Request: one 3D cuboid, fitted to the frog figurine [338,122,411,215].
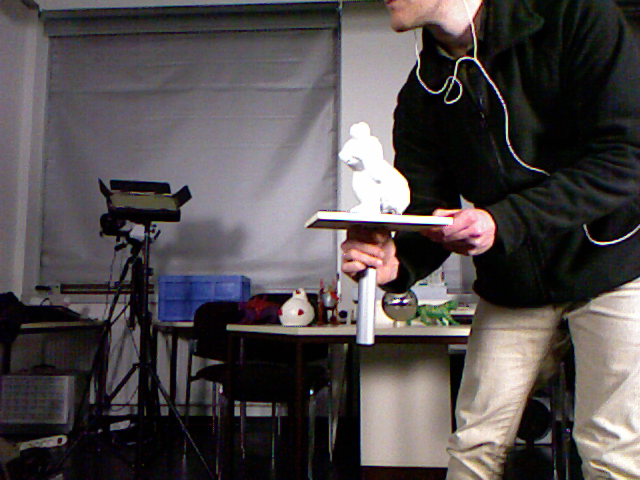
[{"bbox_3d":[0.092,-0.114,0.857,0.123,0.160,0.138,3,1,13],"label":"frog figurine"}]
